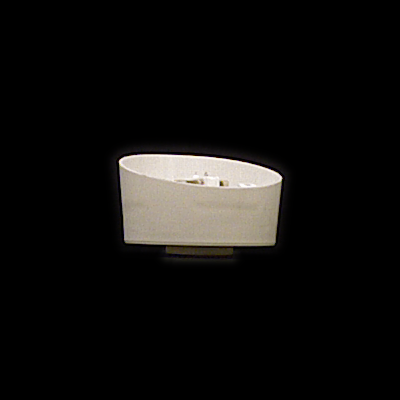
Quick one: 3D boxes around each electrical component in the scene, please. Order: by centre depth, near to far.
[{"bbox_3d":[0.000,0.000,0.650,0.099,0.064,0.099,1,-1,0],"label":"electrical component"}]
